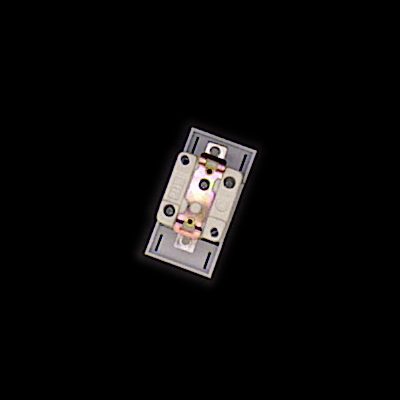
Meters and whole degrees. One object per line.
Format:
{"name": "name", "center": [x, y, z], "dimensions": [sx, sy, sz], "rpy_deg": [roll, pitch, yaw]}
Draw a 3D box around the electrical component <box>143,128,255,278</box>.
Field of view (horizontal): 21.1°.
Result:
{"name": "electrical component", "center": [0.000, 0.000, 0.626], "dimensions": [0.042, 0.081, 0.063], "rpy_deg": [19, -6, 2]}
